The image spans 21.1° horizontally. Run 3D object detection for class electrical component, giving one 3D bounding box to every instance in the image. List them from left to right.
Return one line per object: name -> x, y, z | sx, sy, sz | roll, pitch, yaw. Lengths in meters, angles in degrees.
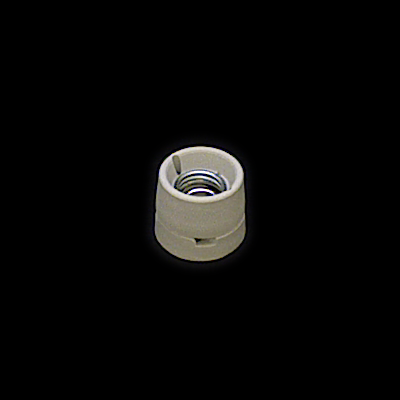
electrical component -> 0.000, 0.000, 0.635 | 0.055, 0.047, 0.055 | 1, 43, -1
